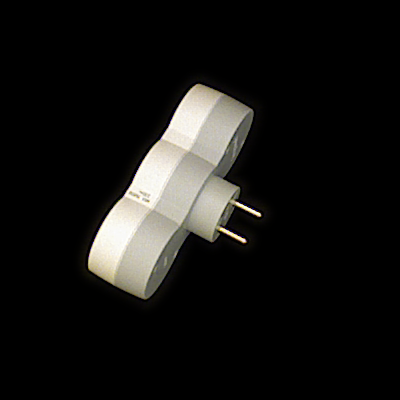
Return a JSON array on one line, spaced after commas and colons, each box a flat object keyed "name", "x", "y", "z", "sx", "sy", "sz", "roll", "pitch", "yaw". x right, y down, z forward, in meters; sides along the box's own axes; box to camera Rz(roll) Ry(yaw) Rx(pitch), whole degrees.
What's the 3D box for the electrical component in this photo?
[{"name": "electrical component", "x": 0.000, "y": 0.000, "z": 0.636, "sx": 0.073, "sy": 0.139, "sz": 0.052, "roll": 27, "pitch": -24, "yaw": 11}]
